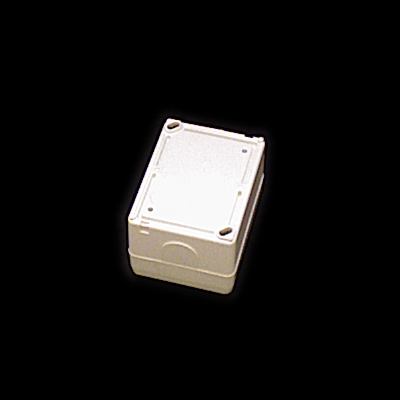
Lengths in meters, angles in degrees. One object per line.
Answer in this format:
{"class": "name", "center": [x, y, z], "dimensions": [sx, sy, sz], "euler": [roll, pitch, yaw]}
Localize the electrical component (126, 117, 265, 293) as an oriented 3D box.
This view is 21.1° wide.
{"class": "electrical component", "center": [0.000, 0.000, 0.630], "dimensions": [0.062, 0.096, 0.061], "euler": [12, -38, 9]}
